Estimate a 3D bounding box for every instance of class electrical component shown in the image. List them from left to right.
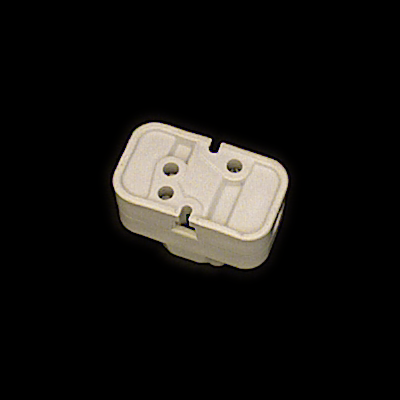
[{"bbox_3d":[0.000,0.000,0.634,0.095,0.054,0.059,19,-25,9],"label":"electrical component"}]
